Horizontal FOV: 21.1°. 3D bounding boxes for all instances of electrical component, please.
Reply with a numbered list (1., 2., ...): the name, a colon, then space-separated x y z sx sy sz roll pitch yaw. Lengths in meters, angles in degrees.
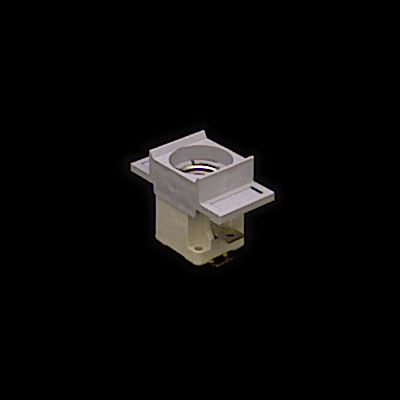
1. electrical component: 0.000 0.000 0.631 0.042 0.064 0.080 -22 38 -35
